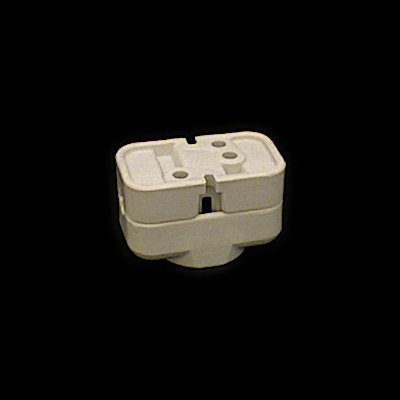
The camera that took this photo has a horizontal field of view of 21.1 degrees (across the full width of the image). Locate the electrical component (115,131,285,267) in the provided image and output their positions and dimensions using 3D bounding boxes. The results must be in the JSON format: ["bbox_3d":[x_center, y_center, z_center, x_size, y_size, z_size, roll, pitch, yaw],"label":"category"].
[{"bbox_3d":[0.000,0.000,0.643,0.095,0.060,0.052,-7,33,-12],"label":"electrical component"}]
